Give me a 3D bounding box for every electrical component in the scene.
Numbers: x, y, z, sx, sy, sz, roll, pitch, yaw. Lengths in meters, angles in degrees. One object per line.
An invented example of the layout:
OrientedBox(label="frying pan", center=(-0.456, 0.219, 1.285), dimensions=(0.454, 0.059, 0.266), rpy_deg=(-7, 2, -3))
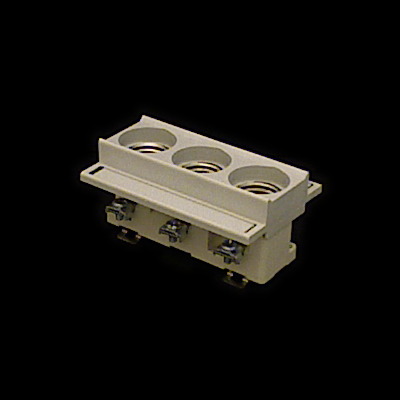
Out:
OrientedBox(label="electrical component", center=(0.000, 0.000, 0.648), dimensions=(0.120, 0.064, 0.078), rpy_deg=(21, 36, 30))
